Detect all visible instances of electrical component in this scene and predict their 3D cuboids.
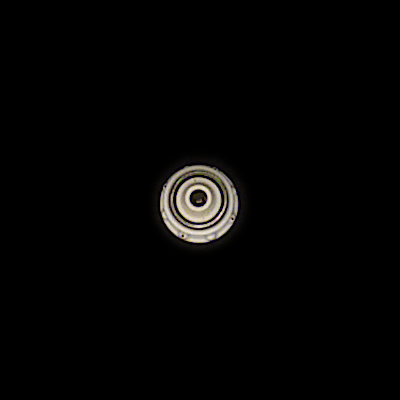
[{"bbox_3d":[0.000,0.000,0.635,0.048,0.048,0.062,0,-4,0],"label":"electrical component"}]
